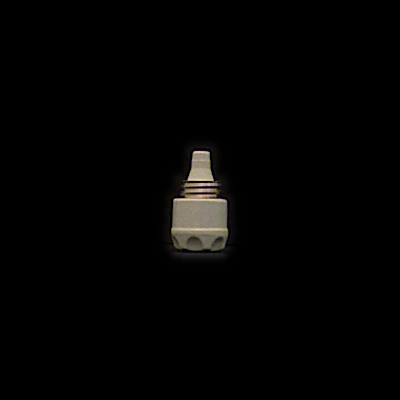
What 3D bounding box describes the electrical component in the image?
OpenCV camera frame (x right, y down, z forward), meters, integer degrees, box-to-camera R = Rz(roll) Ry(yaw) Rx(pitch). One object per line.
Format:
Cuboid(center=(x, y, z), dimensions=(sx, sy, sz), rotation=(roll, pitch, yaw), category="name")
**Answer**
Cuboid(center=(0.000, 0.000, 0.661), dimensions=(0.035, 0.061, 0.035), rotation=(2, 0, 0), category="electrical component")
